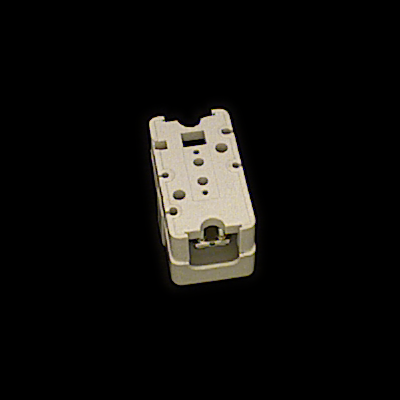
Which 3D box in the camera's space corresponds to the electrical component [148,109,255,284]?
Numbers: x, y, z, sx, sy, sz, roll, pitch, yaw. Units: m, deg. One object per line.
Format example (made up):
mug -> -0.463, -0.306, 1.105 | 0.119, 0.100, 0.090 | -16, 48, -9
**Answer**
electrical component -> 0.000, 0.000, 0.637 | 0.050, 0.089, 0.056 | -8, -37, -5
